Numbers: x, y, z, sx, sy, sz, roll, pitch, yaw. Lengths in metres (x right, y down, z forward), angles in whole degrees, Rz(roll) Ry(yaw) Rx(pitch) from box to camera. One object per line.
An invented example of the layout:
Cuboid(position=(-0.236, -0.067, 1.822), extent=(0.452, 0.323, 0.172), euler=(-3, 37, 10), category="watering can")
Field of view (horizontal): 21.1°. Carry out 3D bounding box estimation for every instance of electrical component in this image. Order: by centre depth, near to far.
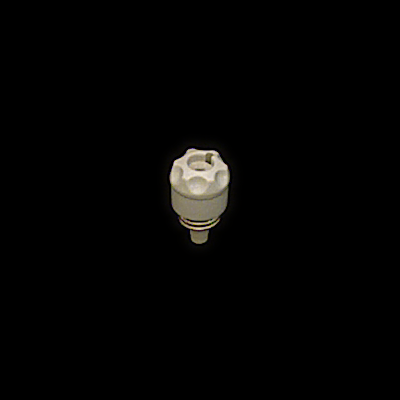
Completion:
Cuboid(position=(0.000, 0.000, 0.639), extent=(0.035, 0.062, 0.035), euler=(1, 43, 0), category="electrical component")
